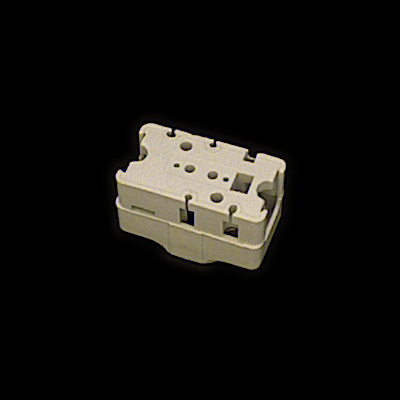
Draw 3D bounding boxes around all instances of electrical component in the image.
[{"bbox_3d":[0.000,0.000,0.638,0.089,0.050,0.056,17,-36,11],"label":"electrical component"}]
